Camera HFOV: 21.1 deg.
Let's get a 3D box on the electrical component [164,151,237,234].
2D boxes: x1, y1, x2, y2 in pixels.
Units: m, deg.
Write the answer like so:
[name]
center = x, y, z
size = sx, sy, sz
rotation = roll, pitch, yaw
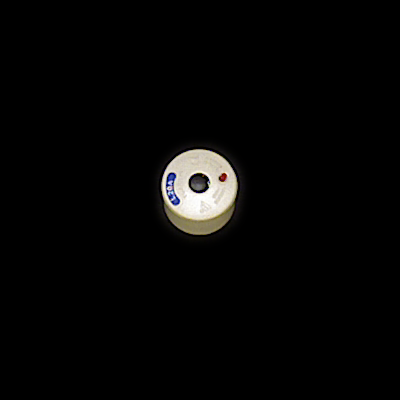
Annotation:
[electrical component]
center = 0.000, 0.000, 0.617
size = 0.040, 0.040, 0.078
rotation = 0, -17, -1
